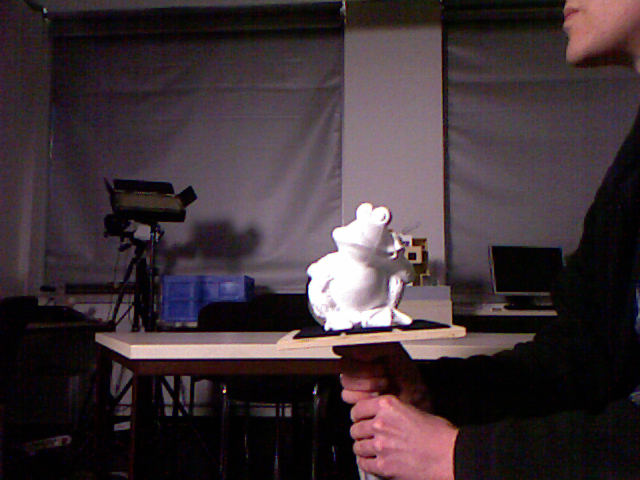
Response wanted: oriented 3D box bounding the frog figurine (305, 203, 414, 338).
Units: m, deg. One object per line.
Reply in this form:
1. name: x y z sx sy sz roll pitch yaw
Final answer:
1. frog figurine: 0.049 0.036 0.650 0.137 0.160 0.122 -4 -3 11
